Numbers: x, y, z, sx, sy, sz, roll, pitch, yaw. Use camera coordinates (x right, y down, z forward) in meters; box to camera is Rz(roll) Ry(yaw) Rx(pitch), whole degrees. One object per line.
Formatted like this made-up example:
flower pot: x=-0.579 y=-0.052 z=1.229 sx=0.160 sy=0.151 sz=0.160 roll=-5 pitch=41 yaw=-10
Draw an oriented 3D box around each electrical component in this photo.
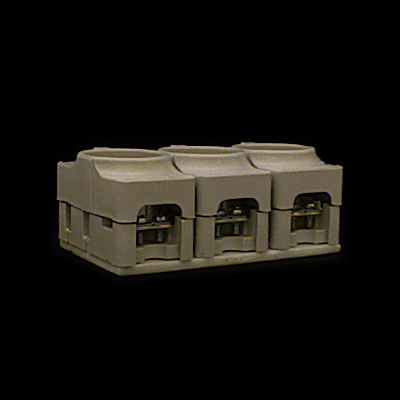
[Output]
electrical component: x=0.000 y=0.000 z=0.651 sx=0.150 sy=0.062 sz=0.088 roll=-4 pitch=11 yaw=-30
